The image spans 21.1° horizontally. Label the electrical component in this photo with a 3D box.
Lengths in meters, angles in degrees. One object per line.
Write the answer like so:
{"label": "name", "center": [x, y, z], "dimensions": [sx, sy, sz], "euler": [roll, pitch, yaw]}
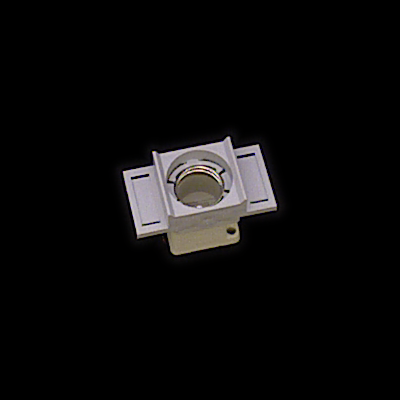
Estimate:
{"label": "electrical component", "center": [0.000, 0.000, 0.624], "dimensions": [0.081, 0.042, 0.063], "euler": [-11, -26, -7]}
